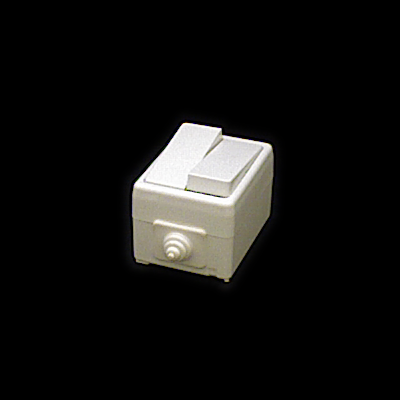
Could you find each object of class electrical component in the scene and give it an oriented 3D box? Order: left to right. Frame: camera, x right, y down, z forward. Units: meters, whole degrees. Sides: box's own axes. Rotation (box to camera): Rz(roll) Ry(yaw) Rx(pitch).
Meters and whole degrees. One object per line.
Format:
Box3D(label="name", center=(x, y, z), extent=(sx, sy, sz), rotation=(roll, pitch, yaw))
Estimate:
Box3D(label="electrical component", center=(0.000, 0.000, 0.632), extent=(0.061, 0.061, 0.095), rotation=(12, 33, 17))
